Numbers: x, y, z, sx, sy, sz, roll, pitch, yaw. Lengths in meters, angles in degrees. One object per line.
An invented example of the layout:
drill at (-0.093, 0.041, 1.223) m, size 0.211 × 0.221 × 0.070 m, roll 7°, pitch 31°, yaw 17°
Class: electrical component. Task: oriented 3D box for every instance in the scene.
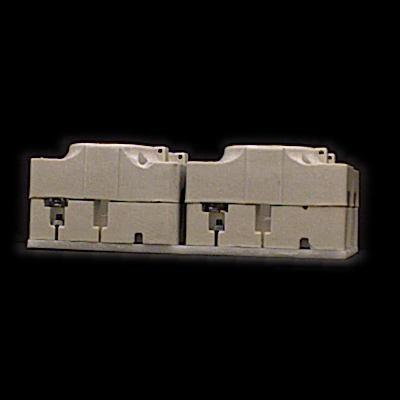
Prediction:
electrical component at (0.000, 0.000, 0.651) m, size 0.186 × 0.060 × 0.105 m, roll 1°, pitch 0°, yaw 12°
